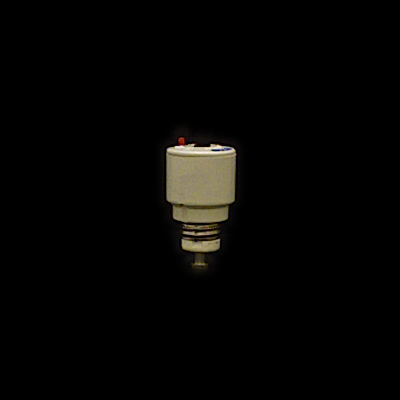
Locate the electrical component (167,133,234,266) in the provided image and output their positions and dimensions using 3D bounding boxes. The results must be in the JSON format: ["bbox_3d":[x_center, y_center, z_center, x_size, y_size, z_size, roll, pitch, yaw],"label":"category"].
[{"bbox_3d":[0.000,0.000,0.644,0.040,0.079,0.040,1,11,0],"label":"electrical component"}]
